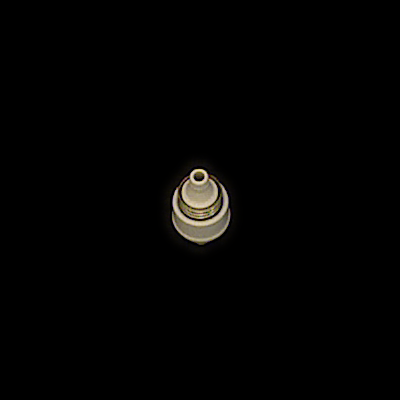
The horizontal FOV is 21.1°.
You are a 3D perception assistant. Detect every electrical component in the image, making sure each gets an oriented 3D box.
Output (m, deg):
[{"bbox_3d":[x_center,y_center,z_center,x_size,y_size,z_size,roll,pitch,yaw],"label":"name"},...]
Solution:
[{"bbox_3d":[0.000,0.000,0.637,0.035,0.035,0.061,0,-28,2],"label":"electrical component"}]
